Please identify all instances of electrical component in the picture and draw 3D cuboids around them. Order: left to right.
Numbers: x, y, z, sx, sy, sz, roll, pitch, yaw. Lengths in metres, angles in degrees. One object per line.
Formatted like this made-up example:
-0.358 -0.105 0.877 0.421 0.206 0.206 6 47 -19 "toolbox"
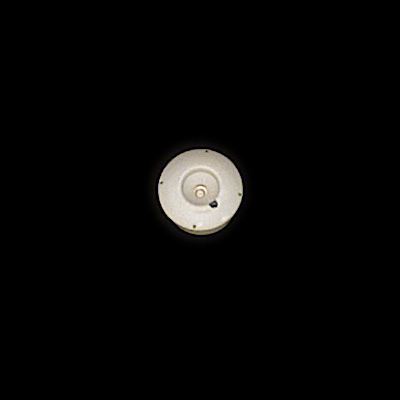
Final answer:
0.000 0.000 0.634 0.048 0.048 0.061 0 -16 1 "electrical component"
